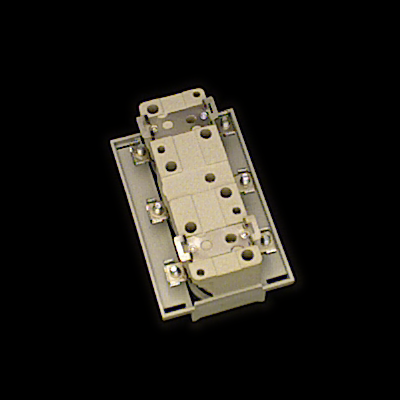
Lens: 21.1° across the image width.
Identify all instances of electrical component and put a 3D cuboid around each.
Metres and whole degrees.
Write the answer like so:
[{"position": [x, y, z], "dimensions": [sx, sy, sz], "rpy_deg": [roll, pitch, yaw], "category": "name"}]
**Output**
[{"position": [0.000, 0.000, 0.633], "dimensions": [0.079, 0.121, 0.063], "rpy_deg": [-16, -26, -7], "category": "electrical component"}]
